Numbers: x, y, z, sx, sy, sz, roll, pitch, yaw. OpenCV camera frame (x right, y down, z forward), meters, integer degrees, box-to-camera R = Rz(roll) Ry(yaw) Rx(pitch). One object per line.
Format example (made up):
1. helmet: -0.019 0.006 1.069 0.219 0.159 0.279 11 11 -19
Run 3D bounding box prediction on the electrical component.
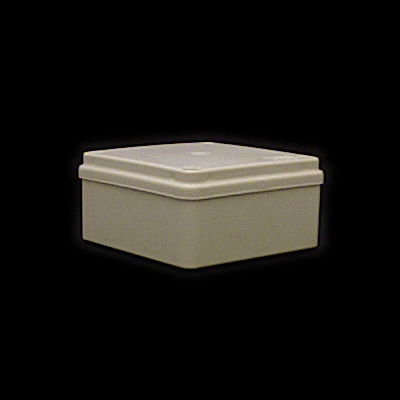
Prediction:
1. electrical component: 0.000 0.000 0.645 0.109 0.056 0.107 -8 13 -40
